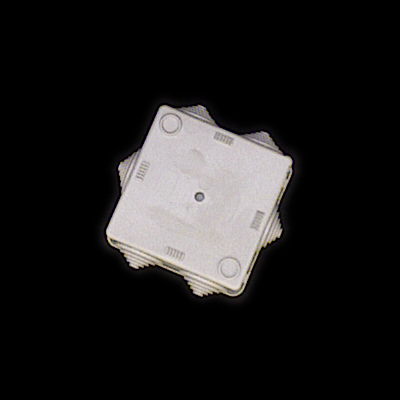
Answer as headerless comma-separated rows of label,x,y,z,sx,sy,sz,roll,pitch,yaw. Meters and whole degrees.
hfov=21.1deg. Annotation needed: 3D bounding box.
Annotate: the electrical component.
electrical component,0.000,0.000,0.632,0.100,0.100,0.048,23,-6,2
